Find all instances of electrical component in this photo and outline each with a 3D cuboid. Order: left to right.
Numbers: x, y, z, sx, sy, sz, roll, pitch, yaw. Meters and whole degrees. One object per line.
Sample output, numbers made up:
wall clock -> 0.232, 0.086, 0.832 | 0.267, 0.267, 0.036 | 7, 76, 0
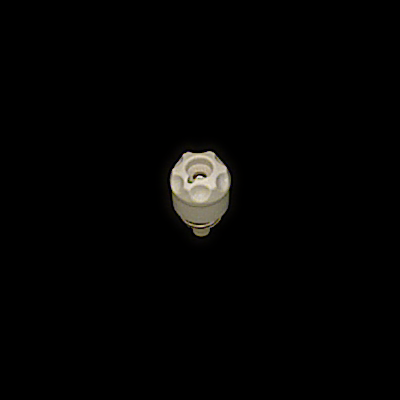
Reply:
electrical component -> 0.000, 0.000, 0.634 | 0.035, 0.035, 0.061 | 0, -37, 0
